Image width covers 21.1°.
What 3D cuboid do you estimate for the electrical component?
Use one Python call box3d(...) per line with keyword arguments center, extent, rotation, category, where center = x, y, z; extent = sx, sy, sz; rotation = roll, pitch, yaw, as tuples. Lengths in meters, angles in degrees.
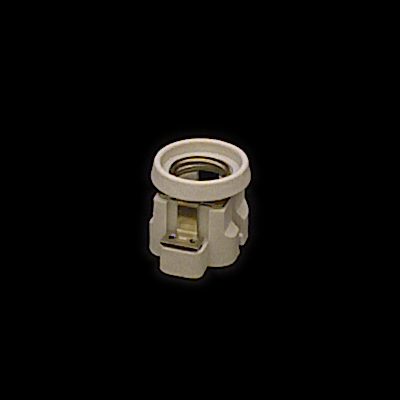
box3d(center=(0.000, 0.000, 0.633), extent=(0.057, 0.057, 0.078), rotation=(10, 33, 14), category="electrical component")
